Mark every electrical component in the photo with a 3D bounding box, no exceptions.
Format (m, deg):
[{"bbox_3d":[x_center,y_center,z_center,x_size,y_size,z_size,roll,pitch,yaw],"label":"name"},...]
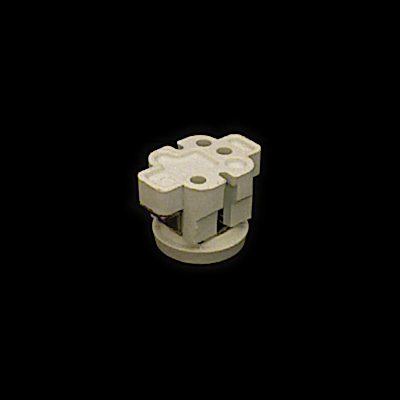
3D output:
[{"bbox_3d":[0.000,0.000,0.640,0.079,0.057,0.057,-26,42,-34],"label":"electrical component"}]
